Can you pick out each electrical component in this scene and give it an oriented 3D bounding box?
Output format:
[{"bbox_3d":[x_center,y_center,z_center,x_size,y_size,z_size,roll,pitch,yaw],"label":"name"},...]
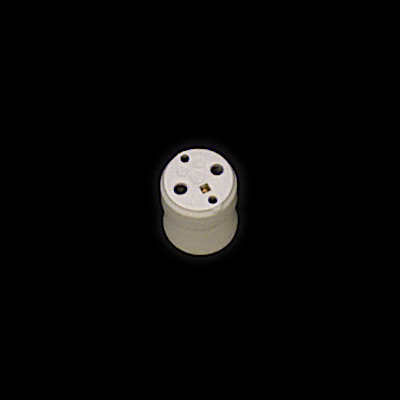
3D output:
[{"bbox_3d":[0.000,0.000,0.628,0.045,0.045,0.055,0,-27,0],"label":"electrical component"}]
